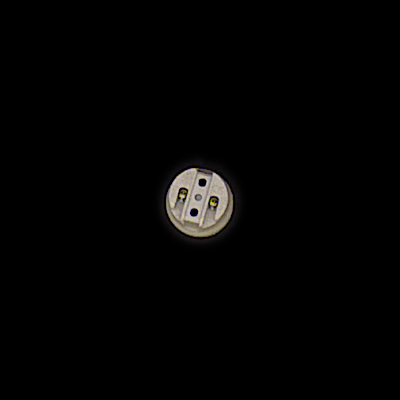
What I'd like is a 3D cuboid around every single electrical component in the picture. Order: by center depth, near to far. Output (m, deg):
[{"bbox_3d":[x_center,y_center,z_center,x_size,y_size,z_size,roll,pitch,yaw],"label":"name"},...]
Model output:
[{"bbox_3d":[0.000,0.000,0.634,0.040,0.040,0.046,0,-7,0],"label":"electrical component"}]
